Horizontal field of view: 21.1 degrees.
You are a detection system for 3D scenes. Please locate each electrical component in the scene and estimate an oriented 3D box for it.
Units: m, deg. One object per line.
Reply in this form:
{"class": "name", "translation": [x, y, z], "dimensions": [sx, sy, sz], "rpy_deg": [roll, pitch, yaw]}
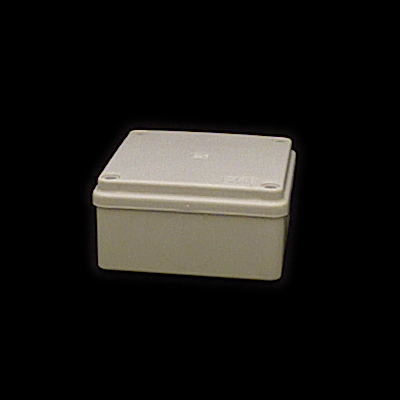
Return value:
{"class": "electrical component", "translation": [0.000, 0.000, 0.641], "dimensions": [0.108, 0.057, 0.107], "rpy_deg": [3, 20, 6]}
